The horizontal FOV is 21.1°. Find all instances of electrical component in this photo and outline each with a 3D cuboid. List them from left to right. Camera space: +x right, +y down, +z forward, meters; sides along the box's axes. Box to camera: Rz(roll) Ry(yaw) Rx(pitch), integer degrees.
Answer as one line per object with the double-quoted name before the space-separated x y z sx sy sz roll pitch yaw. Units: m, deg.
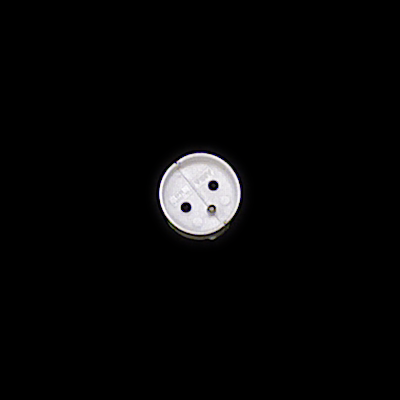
"electrical component" 0.000 0.000 0.615 0.043 0.043 0.080 0 -5 0
